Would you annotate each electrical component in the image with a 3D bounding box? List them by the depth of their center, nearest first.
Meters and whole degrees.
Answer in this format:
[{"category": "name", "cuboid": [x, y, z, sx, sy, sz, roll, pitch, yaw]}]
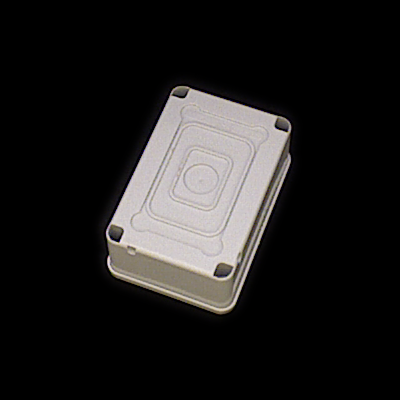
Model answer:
[{"category": "electrical component", "cuboid": [0.000, 0.000, 0.628, 0.078, 0.113, 0.057, 19, -26, 9]}]
